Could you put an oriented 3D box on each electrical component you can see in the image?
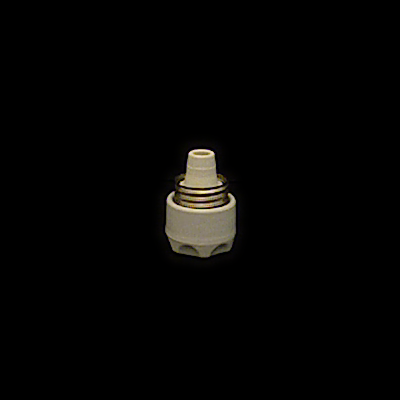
[{"bbox_3d":[0.000,0.000,0.647,0.043,0.063,0.043,1,21,0],"label":"electrical component"}]
